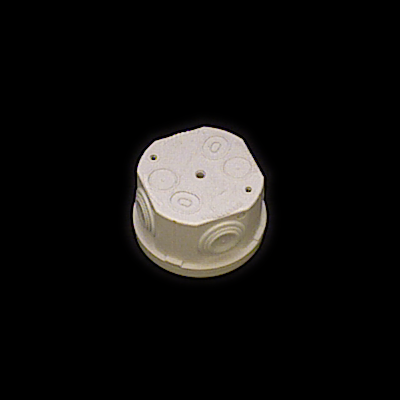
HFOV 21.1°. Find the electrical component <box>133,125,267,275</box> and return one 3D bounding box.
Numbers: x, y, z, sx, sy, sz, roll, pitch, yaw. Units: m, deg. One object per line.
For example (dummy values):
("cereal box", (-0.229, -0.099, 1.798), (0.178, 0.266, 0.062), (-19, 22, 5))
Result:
("electrical component", (0.000, 0.000, 0.632), (0.080, 0.080, 0.051), (0, -37, -1))
